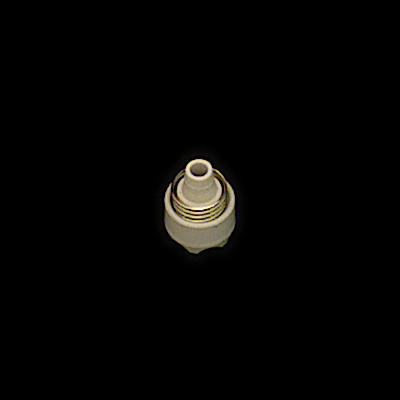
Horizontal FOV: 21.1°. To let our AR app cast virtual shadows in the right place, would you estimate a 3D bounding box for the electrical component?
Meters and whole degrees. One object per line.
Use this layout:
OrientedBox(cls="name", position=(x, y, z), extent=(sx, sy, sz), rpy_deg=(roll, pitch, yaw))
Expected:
OrientedBox(cls="electrical component", position=(0.000, 0.000, 0.634), extent=(0.043, 0.043, 0.062), rpy_deg=(0, -36, 0))
